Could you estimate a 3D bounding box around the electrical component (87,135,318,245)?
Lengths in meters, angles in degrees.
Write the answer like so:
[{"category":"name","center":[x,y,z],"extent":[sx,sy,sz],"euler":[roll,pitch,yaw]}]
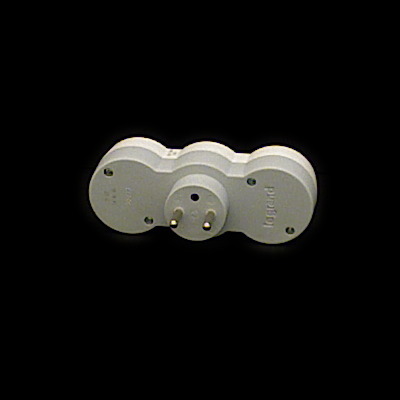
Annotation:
[{"category":"electrical component","center":[0.000,0.000,0.645],"extent":[0.138,0.053,0.073],"euler":[4,23,7]}]
